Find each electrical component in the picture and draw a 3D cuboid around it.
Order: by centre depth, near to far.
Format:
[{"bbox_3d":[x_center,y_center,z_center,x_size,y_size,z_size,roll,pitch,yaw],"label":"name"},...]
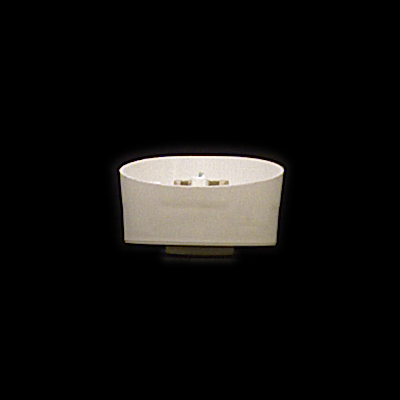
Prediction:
[{"bbox_3d":[0.000,0.000,0.650,0.099,0.064,0.099,1,-1,0],"label":"electrical component"}]
